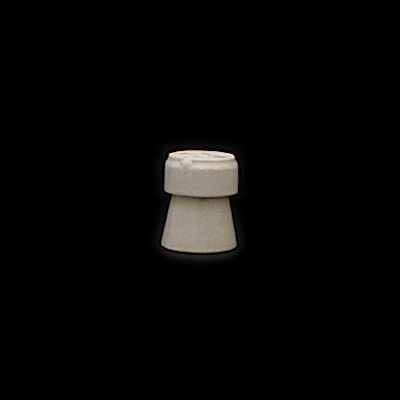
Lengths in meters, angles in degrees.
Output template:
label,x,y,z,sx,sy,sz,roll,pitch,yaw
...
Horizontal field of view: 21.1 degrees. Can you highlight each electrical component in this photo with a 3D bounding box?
label,x,y,z,sx,sy,sz,roll,pitch,yaw
electrical component,0.000,0.000,0.644,0.045,0.055,0.044,1,12,0
